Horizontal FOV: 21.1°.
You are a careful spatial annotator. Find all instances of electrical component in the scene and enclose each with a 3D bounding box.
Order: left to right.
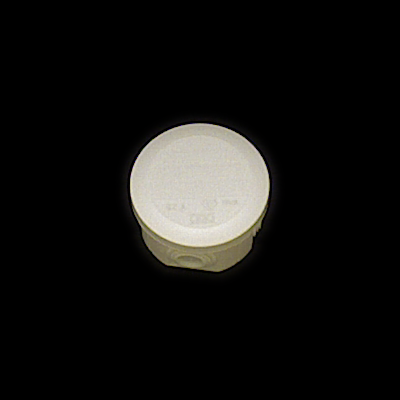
[{"bbox_3d":[0.000,0.000,0.629,0.080,0.080,0.050,0,-27,0],"label":"electrical component"}]
